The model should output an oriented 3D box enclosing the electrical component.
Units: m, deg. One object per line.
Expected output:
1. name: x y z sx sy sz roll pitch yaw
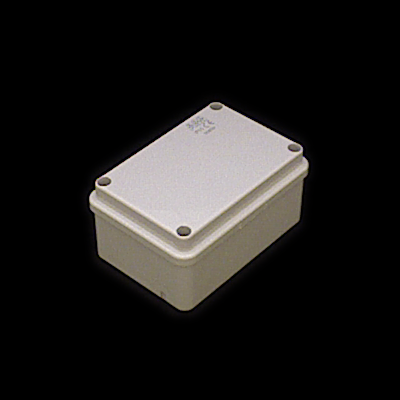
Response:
1. electrical component: 0.000 0.000 0.632 0.077 0.057 0.113 31 50 29
